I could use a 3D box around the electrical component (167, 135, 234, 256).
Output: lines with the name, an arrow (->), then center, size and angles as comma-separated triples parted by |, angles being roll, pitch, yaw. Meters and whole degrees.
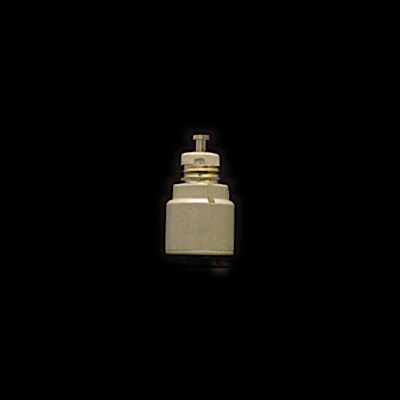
electrical component -> 0.000, 0.000, 0.648 | 0.040, 0.078, 0.040 | 0, 0, 0
